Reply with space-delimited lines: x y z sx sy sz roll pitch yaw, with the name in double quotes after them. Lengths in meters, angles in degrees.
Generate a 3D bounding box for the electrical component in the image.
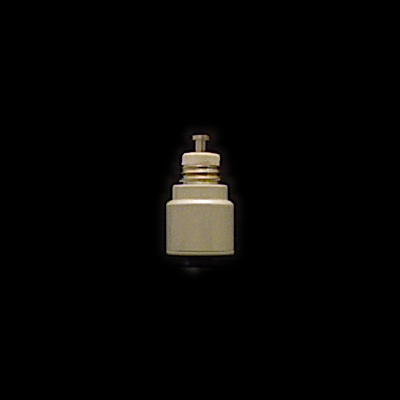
0.000 0.000 0.650 0.040 0.078 0.040 0 2 0 "electrical component"
